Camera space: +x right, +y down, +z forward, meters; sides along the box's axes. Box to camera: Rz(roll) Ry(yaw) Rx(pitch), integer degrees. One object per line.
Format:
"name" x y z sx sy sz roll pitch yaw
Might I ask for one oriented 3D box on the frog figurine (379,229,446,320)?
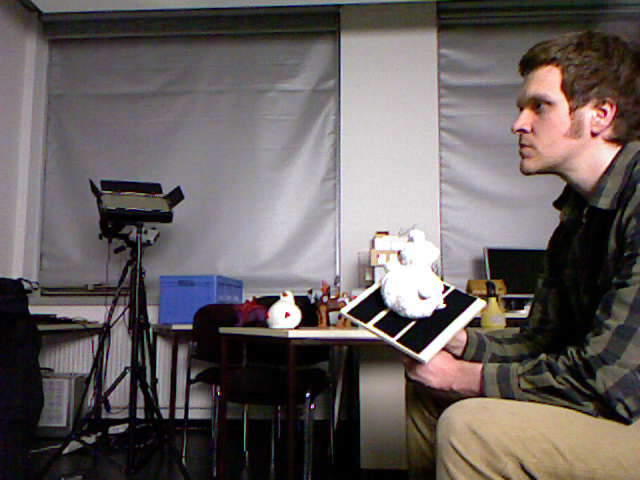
"frog figurine" 0.177 0.068 0.976 0.124 0.156 0.140 -19 39 -20
